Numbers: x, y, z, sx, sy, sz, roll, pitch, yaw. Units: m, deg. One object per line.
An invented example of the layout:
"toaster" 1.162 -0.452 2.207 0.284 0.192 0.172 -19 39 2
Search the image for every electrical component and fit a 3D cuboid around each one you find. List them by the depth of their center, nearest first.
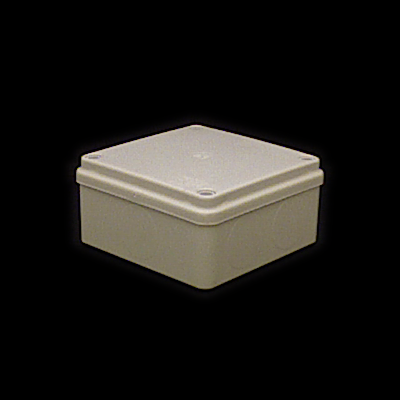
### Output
"electrical component" 0.000 0.000 0.641 0.108 0.057 0.108 19 26 38
